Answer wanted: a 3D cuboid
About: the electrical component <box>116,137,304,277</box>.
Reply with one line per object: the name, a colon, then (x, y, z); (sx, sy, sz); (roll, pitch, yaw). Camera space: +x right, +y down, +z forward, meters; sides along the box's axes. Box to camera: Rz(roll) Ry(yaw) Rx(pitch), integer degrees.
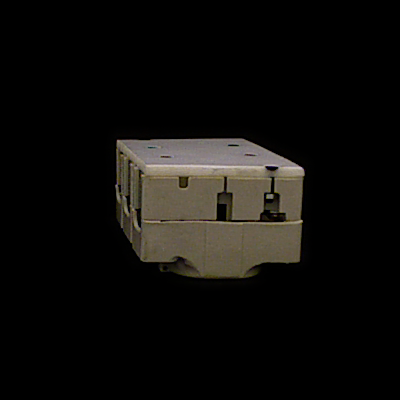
electrical component: (0.000, 0.000, 0.653); (0.090, 0.062, 0.148); (0, 9, -10)
